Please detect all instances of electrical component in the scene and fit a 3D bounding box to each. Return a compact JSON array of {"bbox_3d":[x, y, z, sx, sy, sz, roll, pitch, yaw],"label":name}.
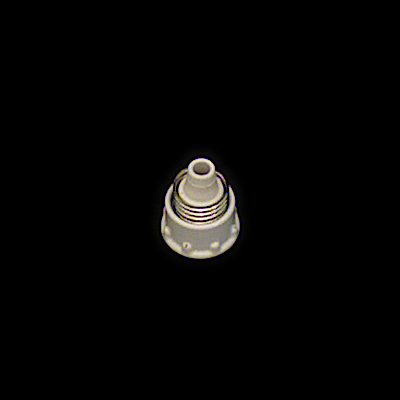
[{"bbox_3d":[0.000,0.000,0.636,0.048,0.048,0.062,0,-38,-2],"label":"electrical component"}]
